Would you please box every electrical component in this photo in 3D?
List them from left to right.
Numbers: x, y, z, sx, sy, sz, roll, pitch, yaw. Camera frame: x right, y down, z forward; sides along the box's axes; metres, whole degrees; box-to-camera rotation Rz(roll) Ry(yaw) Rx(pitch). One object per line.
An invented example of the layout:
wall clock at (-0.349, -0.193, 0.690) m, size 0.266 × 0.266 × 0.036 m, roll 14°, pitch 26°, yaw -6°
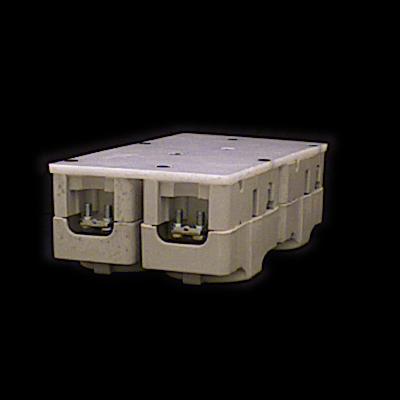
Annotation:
electrical component at (0.000, 0.000, 0.644) m, size 0.105 × 0.060 × 0.185 m, roll 5°, pitch 10°, yaw 22°
